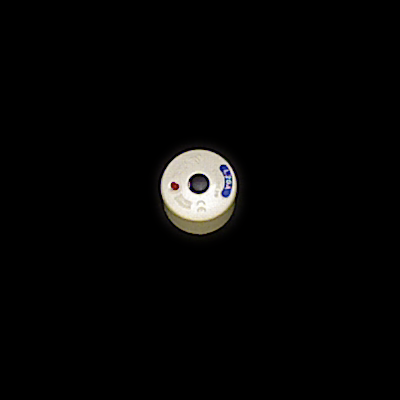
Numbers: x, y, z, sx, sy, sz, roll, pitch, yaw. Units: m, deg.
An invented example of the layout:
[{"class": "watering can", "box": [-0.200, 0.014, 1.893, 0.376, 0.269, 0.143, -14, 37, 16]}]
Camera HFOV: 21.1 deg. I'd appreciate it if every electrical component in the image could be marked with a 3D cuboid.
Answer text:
[{"class": "electrical component", "box": [0.000, 0.000, 0.617, 0.040, 0.040, 0.078, 0, -16, 1]}]
